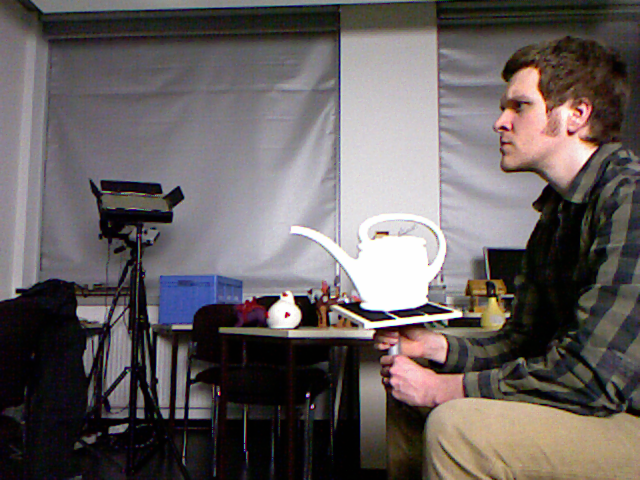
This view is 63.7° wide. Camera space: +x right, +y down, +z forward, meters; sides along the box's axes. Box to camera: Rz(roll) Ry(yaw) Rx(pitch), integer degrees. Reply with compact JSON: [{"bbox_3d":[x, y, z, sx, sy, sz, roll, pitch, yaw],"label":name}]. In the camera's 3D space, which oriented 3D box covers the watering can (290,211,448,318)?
[{"bbox_3d":[0.107,0.055,1.043,0.348,0.223,0.104,-3,6,-19],"label":"watering can"}]
